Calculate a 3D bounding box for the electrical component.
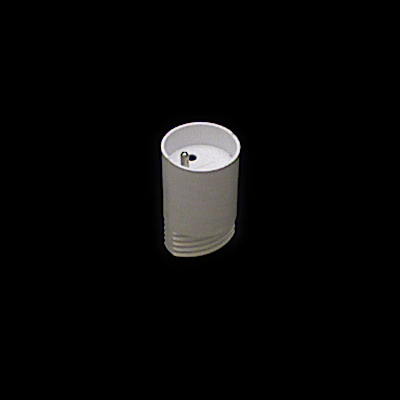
[{"bbox_3d":[0.000,0.000,0.620,0.043,0.082,0.042,0,41,0],"label":"electrical component"}]
